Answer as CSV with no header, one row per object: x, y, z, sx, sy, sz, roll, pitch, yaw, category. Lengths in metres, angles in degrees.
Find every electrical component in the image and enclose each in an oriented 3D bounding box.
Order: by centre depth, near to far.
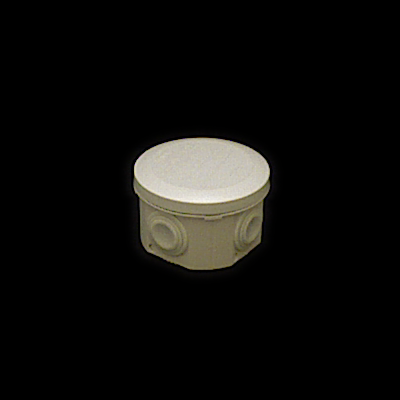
0.000,0.000,0.639,0.080,0.051,0.079,1,31,0,electrical component
